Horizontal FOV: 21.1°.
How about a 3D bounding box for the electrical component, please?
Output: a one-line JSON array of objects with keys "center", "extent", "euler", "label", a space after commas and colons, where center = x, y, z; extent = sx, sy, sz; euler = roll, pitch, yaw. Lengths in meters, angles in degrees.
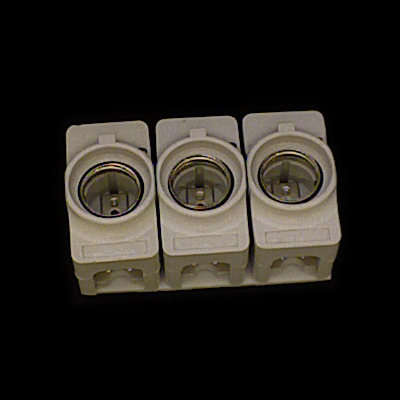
[{"center": [0.000, 0.000, 0.632], "extent": [0.150, 0.089, 0.062], "euler": [-4, -28, -3], "label": "electrical component"}]
